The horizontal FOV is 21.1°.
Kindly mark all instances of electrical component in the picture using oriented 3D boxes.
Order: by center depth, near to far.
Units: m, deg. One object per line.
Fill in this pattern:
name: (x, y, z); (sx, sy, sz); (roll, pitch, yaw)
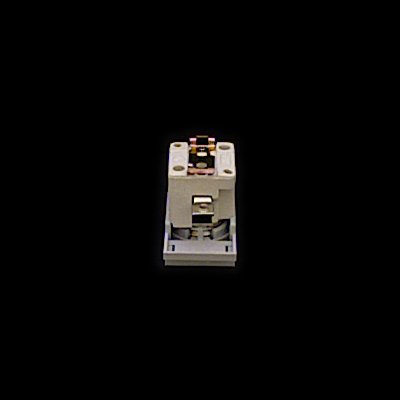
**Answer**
electrical component: (0.000, 0.000, 0.634); (0.042, 0.064, 0.079); (1, 31, 0)
